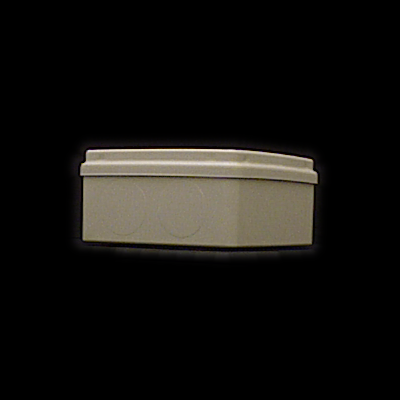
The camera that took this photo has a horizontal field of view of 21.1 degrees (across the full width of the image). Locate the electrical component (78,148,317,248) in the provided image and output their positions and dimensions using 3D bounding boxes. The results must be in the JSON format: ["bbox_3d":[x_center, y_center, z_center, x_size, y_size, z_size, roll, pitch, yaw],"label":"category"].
[{"bbox_3d":[0.000,0.000,0.650,0.108,0.056,0.109,2,0,31],"label":"electrical component"}]
